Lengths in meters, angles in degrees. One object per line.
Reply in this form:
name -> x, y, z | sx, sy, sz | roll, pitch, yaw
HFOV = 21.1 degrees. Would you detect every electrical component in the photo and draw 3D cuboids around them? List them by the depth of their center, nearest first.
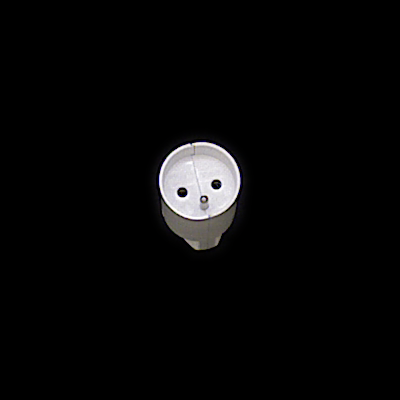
electrical component -> 0.000, 0.000, 0.615 | 0.043, 0.043, 0.080 | 0, -16, 0
